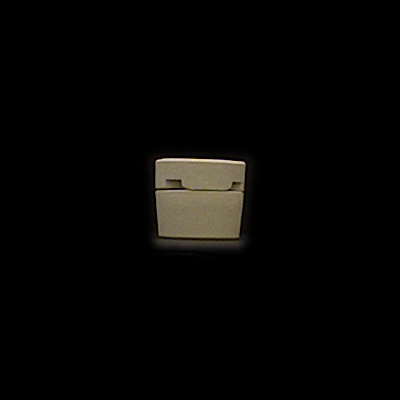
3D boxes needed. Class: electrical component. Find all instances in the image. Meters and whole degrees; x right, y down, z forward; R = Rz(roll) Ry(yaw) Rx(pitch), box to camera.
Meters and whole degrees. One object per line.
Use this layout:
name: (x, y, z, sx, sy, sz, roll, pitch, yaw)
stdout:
electrical component: (0.000, 0.000, 0.651, 0.055, 0.047, 0.055, 1, 1, 0)
